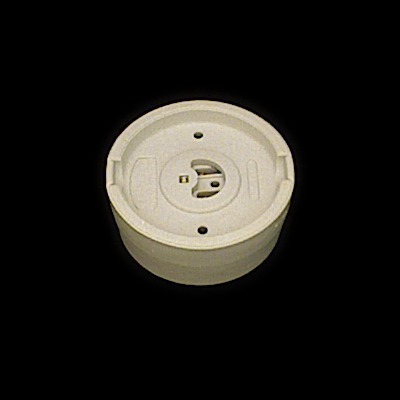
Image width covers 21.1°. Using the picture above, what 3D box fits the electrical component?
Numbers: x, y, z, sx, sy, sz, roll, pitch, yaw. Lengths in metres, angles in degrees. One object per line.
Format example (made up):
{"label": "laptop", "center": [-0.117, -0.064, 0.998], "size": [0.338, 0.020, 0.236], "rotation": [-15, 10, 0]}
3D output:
{"label": "electrical component", "center": [0.000, 0.000, 0.633], "size": [0.108, 0.107, 0.060], "rotation": [0, -37, -1]}
